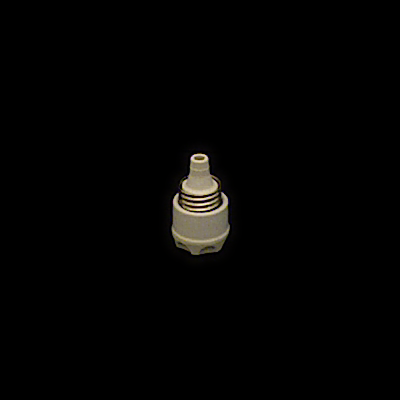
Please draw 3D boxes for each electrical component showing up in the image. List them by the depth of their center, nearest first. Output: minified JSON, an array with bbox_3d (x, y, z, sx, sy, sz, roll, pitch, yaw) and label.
[{"bbox_3d":[0.000,0.000,0.645,0.035,0.062,0.034,-1,32,1],"label":"electrical component"}]
